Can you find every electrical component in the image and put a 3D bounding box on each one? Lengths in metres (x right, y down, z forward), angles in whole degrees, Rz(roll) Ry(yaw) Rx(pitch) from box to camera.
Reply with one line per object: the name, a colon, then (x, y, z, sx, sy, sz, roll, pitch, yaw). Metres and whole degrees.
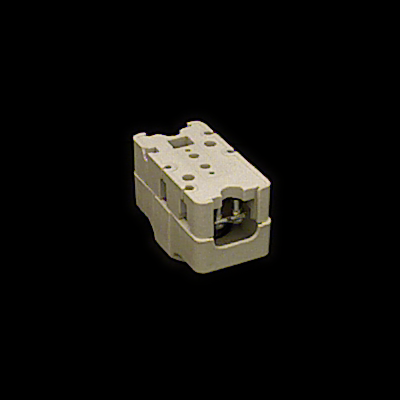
electrical component: (0.000, 0.000, 0.642, 0.050, 0.056, 0.088, -16, 35, -23)
